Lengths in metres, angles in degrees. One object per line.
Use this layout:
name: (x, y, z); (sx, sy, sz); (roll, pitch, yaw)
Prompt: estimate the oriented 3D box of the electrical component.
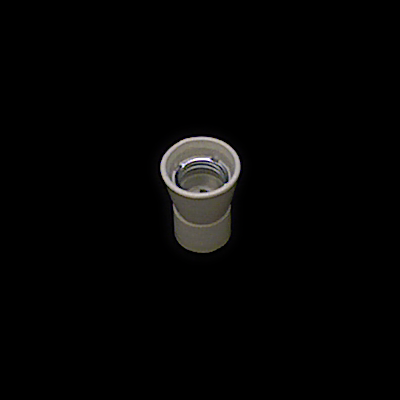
electrical component: (0.000, 0.000, 0.627); (0.044, 0.044, 0.065); (0, -38, 1)
